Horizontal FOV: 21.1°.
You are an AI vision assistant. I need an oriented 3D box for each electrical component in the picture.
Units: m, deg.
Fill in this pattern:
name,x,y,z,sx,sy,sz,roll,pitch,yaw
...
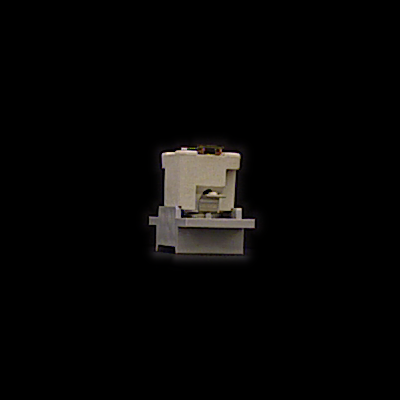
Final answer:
name,x,y,z,sx,sy,sz,roll,pitch,yaw
electrical component,0.000,0.000,0.649,0.042,0.064,0.081,1,0,-19
